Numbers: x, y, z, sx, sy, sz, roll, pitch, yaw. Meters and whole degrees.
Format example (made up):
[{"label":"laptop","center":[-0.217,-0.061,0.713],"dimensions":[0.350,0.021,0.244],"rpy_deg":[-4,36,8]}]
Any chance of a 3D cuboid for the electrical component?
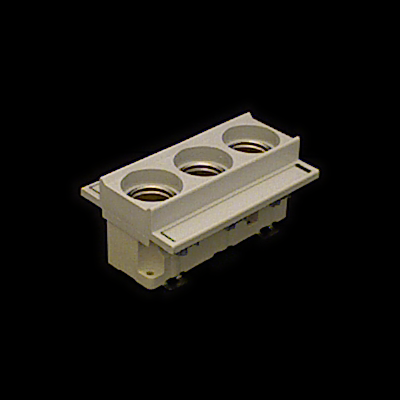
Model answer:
[{"label":"electrical component","center":[0.000,0.000,0.646],"dimensions":[0.121,0.064,0.078],"rpy_deg":[-26,42,-36]}]
